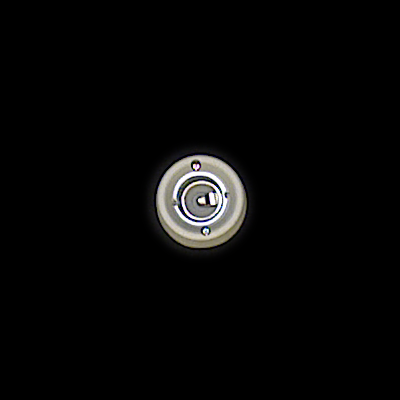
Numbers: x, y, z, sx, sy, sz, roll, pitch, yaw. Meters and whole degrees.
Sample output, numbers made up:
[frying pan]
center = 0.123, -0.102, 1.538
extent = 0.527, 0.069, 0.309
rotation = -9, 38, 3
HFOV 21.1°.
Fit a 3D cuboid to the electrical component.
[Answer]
[electrical component]
center = 0.000, 0.000, 0.633
extent = 0.055, 0.055, 0.047
rotation = 0, -6, 1
